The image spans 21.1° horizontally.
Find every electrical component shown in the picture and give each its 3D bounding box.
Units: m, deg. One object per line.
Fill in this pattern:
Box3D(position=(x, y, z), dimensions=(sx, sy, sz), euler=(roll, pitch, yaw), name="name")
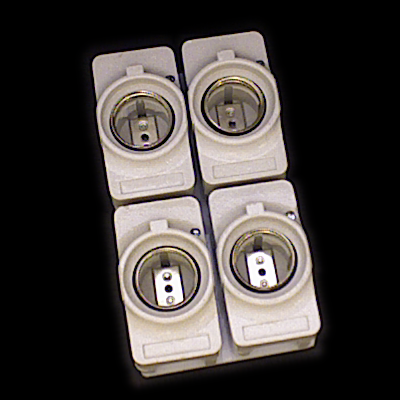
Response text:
Box3D(position=(0.000, 0.000, 0.625), dimensions=(0.105, 0.187, 0.060), euler=(-9, -17, -3), name="electrical component")
